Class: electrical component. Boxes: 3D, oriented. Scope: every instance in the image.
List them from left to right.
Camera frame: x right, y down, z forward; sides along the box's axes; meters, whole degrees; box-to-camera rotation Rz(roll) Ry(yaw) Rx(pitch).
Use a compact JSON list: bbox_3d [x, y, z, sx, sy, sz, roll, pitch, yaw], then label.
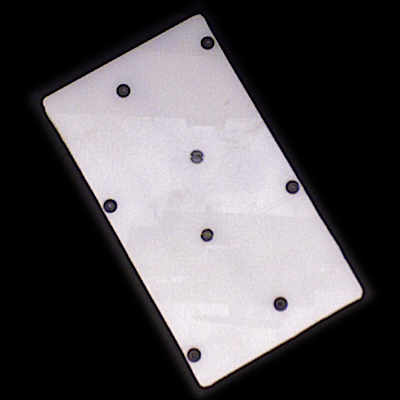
[{"bbox_3d":[0.000,0.000,0.626,0.106,0.186,0.060,-30,-6,-3],"label":"electrical component"}]
